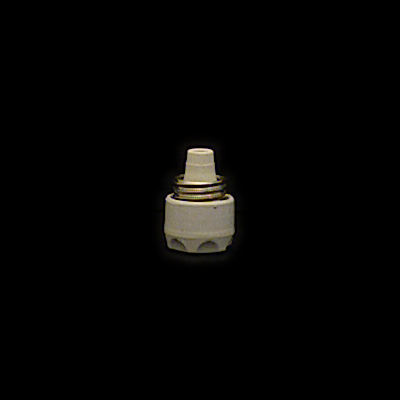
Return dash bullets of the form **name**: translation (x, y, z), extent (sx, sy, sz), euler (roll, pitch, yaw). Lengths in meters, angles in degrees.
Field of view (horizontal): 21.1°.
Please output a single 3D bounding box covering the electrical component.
- **electrical component**: translation (0.000, 0.000, 0.650), extent (0.043, 0.062, 0.043), euler (1, 13, 0)
